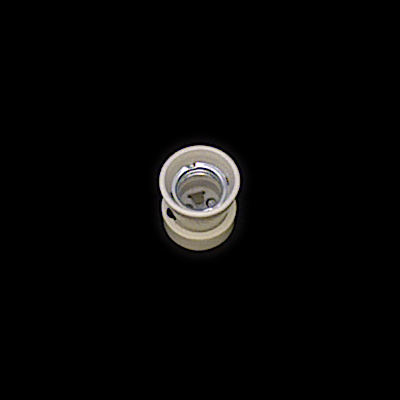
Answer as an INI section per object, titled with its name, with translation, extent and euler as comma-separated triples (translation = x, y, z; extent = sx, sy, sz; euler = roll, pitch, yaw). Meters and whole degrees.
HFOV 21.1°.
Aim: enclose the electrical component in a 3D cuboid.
[electrical component]
translation = 0.000, 0.000, 0.628
extent = 0.045, 0.045, 0.055
euler = 0, -26, 0
